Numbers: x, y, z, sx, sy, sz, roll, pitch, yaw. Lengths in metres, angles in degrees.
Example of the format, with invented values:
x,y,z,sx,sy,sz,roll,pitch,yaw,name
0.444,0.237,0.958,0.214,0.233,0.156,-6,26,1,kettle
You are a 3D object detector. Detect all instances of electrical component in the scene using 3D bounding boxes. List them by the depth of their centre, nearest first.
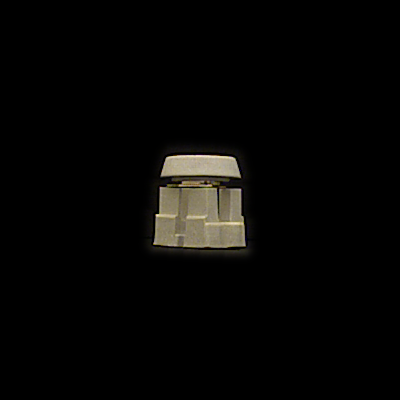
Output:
x,y,z,sx,sy,sz,roll,pitch,yaw,name
0.000,0.000,0.656,0.066,0.055,0.049,3,0,40,electrical component
